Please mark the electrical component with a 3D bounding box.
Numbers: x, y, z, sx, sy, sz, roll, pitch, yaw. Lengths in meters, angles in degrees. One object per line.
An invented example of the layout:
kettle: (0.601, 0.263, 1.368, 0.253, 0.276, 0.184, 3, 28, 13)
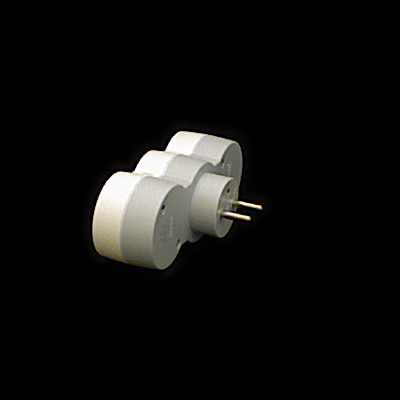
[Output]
electrical component: (0.000, 0.000, 0.645, 0.073, 0.053, 0.137, 11, 24, 20)
